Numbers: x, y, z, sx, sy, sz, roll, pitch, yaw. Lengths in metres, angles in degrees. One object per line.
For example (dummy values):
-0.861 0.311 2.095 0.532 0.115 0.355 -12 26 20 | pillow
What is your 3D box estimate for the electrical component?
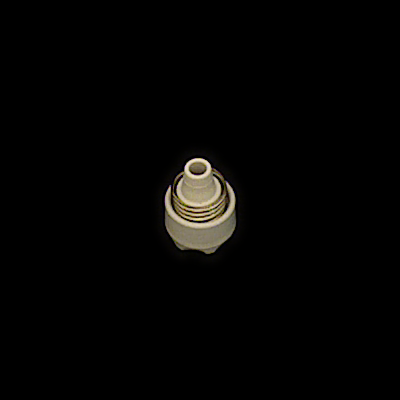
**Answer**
0.000 0.000 0.635 0.043 0.043 0.062 0 -38 1 | electrical component
